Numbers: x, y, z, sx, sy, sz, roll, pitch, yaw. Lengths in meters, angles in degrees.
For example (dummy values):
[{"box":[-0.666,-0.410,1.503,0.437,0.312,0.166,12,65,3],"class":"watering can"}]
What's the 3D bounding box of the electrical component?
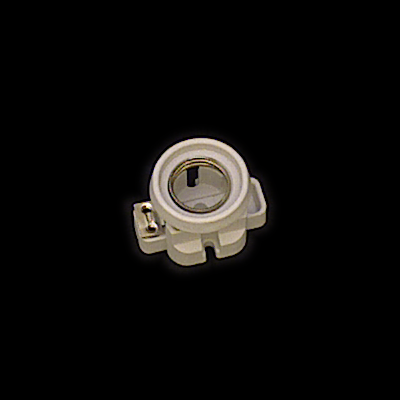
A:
[{"box":[0.000,0.000,0.628,0.079,0.058,0.056,-13,-26,-7],"class":"electrical component"}]
